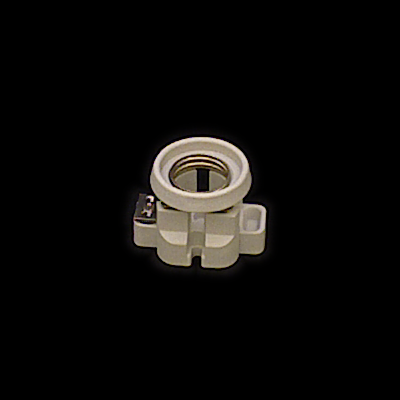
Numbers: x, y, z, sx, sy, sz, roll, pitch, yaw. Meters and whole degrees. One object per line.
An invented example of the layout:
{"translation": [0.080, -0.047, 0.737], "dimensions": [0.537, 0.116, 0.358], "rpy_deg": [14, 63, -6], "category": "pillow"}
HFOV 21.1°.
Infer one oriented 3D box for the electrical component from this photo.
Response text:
{"translation": [0.000, 0.000, 0.631], "dimensions": [0.078, 0.057, 0.057], "rpy_deg": [4, 42, 4], "category": "electrical component"}
